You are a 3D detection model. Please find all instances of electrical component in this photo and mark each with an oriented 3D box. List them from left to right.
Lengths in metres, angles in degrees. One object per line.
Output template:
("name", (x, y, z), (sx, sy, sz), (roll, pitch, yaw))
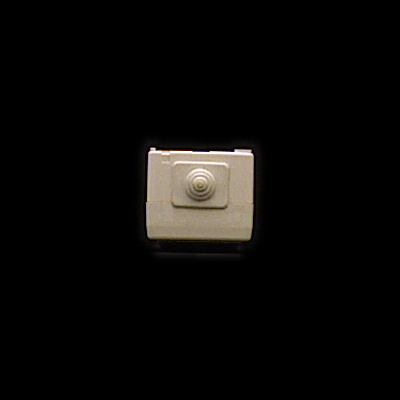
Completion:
("electrical component", (0.000, 0.000, 0.648), (0.062, 0.061, 0.096), (1, 1, -1))
